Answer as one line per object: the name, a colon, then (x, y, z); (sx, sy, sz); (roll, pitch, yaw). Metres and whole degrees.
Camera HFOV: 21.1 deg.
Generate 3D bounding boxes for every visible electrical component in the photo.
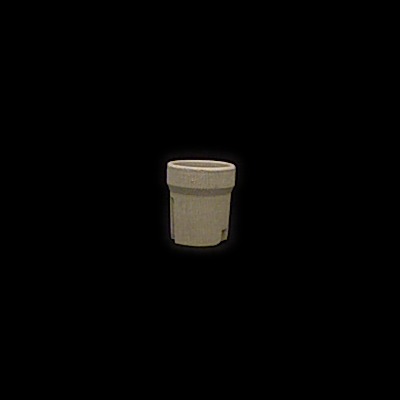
electrical component: (0.000, 0.000, 0.645); (0.040, 0.046, 0.040); (1, 11, 0)
